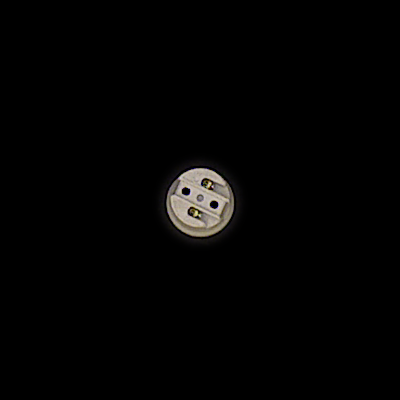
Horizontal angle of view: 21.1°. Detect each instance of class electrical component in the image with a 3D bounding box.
[{"bbox_3d":[0.000,0.000,0.634,0.040,0.040,0.046,0,-6,1],"label":"electrical component"}]
